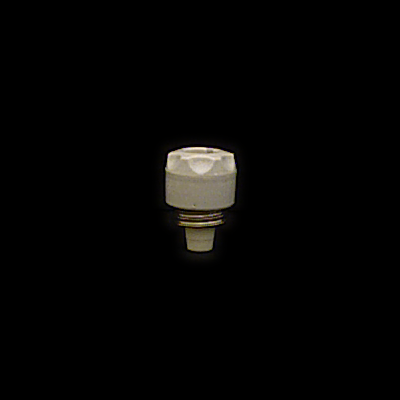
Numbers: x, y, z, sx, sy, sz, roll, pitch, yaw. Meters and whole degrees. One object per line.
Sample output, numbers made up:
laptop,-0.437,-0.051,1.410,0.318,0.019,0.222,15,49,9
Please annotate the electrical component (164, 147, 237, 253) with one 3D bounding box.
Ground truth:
electrical component,0.000,0.000,0.650,0.043,0.062,0.043,1,13,0
